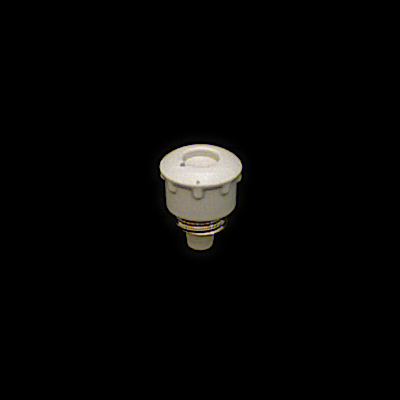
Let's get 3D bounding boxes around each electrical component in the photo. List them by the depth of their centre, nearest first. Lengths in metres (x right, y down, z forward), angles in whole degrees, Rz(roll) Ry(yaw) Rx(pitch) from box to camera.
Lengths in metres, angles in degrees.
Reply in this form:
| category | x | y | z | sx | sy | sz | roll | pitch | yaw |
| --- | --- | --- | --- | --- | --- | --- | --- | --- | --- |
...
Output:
| category | x | y | z | sx | sy | sz | roll | pitch | yaw |
| --- | --- | --- | --- | --- | --- | --- | --- | --- | --- |
| electrical component | 0.000 | 0.000 | 0.639 | 0.048 | 0.063 | 0.047 | 1 | 32 | 0 |
